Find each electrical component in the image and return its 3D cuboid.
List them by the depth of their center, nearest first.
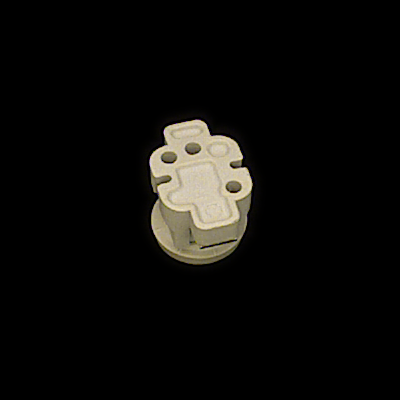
[{"bbox_3d":[0.000,0.000,0.636,0.058,0.078,0.057,-13,-34,-11],"label":"electrical component"}]
